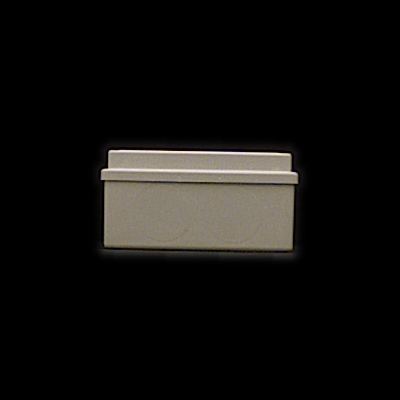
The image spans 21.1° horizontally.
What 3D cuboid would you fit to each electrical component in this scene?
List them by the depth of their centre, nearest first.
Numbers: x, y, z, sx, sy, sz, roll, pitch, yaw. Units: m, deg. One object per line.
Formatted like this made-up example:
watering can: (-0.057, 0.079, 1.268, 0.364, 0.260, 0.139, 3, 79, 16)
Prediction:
electrical component: (0.000, 0.000, 0.652, 0.113, 0.057, 0.078, 1, 0, 0)
